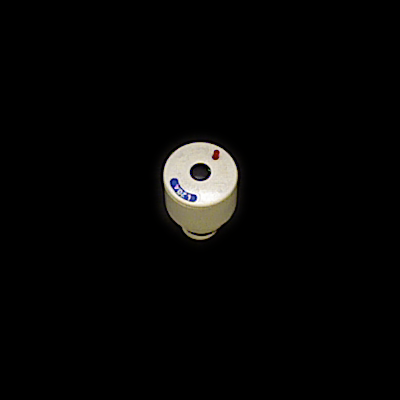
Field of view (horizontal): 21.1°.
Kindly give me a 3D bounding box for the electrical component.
[{"bbox_3d":[0.000,0.000,0.619,0.040,0.040,0.078,0,-28,0],"label":"electrical component"}]
